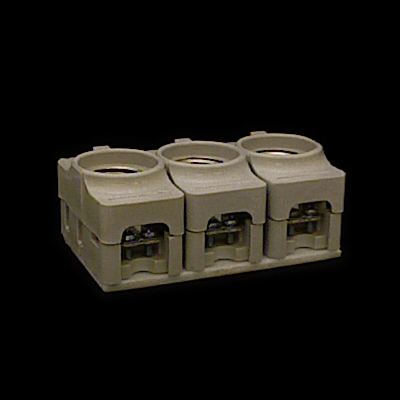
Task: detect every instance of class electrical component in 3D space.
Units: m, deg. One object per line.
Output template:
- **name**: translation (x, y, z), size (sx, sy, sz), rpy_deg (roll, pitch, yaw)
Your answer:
- **electrical component**: translation (0.000, 0.000, 0.646), size (0.150, 0.063, 0.088), rpy_deg (-7, 21, -22)
